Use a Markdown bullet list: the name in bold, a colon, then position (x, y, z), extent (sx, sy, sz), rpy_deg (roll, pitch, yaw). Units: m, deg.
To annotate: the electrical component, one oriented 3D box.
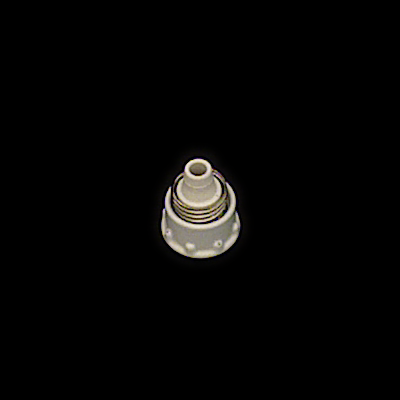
- **electrical component**: position (0.000, 0.000, 0.634), extent (0.048, 0.048, 0.062), rpy_deg (0, -38, 1)
